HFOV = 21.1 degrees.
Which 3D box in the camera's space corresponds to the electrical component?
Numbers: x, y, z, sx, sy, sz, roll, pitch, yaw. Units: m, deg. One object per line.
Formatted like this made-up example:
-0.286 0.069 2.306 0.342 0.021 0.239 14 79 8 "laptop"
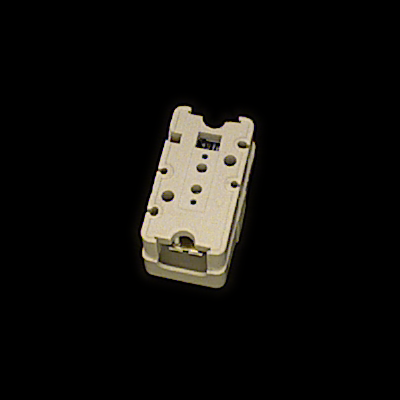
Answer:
0.000 0.000 0.636 0.050 0.090 0.055 11 -27 6 "electrical component"
